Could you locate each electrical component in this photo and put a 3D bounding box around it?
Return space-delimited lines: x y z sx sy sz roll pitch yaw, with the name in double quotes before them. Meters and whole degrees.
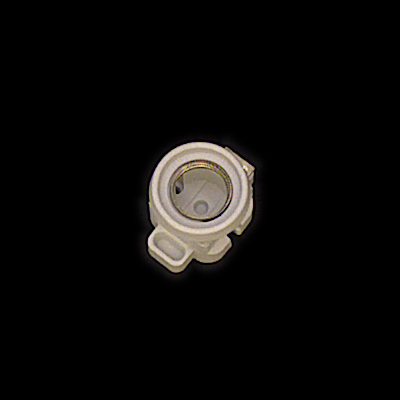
"electrical component" 0.000 0.000 0.629 0.058 0.079 0.056 37 -13 10
